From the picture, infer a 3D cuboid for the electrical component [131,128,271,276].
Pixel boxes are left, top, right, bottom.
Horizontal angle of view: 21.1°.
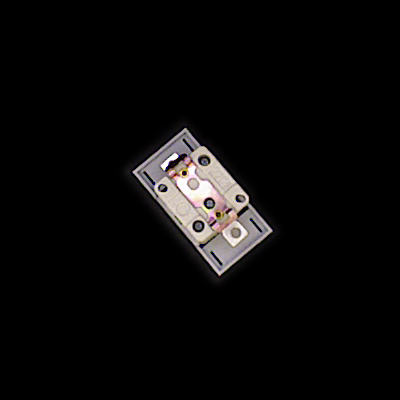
[{"bbox_3d":[0.000,0.000,0.626,0.042,0.081,0.063,-40,-5,-3],"label":"electrical component"}]
